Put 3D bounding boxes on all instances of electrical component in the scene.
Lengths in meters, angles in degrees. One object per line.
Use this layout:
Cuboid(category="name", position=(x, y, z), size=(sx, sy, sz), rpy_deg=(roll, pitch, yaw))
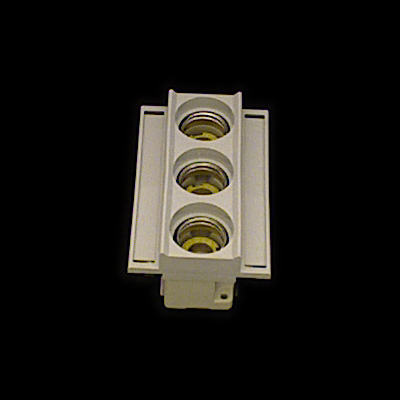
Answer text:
Cuboid(category="electrical component", position=(0.000, 0.000, 0.640), size=(0.079, 0.120, 0.063), rpy_deg=(2, -37, 0))
